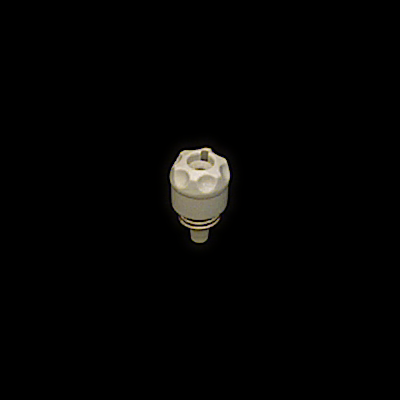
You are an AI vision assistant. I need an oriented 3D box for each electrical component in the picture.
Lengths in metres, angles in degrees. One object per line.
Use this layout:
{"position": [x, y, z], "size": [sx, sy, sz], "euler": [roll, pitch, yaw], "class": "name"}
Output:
{"position": [0.000, 0.000, 0.639], "size": [0.035, 0.062, 0.035], "euler": [1, 42, 0], "class": "electrical component"}
